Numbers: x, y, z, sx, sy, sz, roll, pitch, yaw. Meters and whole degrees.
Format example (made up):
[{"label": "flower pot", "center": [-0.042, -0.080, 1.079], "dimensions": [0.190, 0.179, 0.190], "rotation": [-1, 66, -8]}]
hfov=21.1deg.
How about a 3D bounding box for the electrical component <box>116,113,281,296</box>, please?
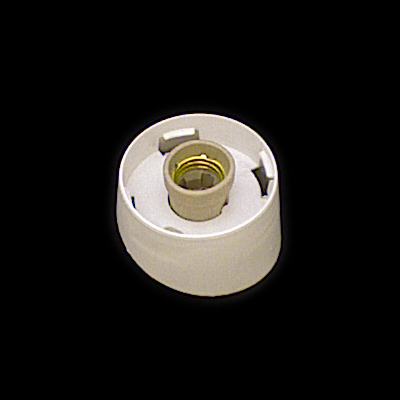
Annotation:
[{"label": "electrical component", "center": [0.000, 0.000, 0.626], "dimensions": [0.099, 0.098, 0.064], "rotation": [0, -37, -1]}]
